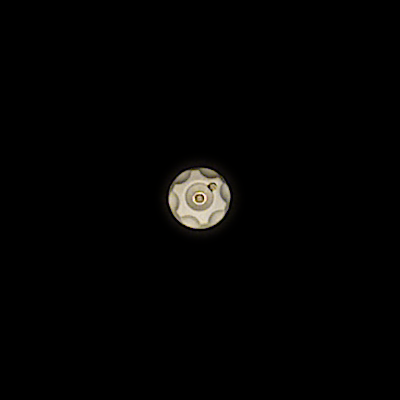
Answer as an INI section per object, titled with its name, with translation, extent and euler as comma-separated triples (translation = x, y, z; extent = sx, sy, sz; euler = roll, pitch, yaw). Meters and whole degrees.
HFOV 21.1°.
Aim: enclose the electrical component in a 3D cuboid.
[electrical component]
translation = 0.000, 0.000, 0.635
extent = 0.035, 0.035, 0.061
euler = 0, -5, 0
